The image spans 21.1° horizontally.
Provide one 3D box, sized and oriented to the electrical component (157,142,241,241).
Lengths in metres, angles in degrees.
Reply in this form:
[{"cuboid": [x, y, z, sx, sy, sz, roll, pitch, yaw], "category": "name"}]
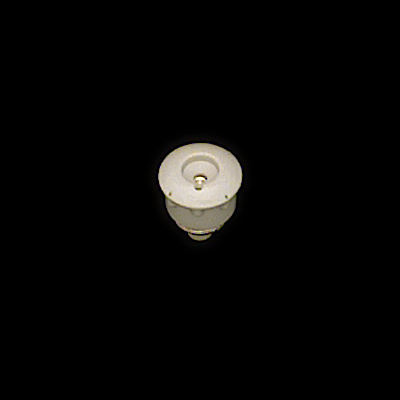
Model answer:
[{"cuboid": [0.000, 0.000, 0.635, 0.048, 0.048, 0.062, 0, -37, 0], "category": "electrical component"}]
